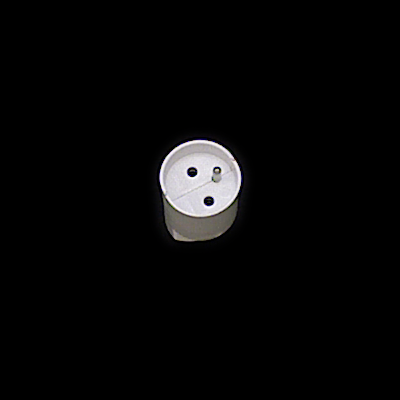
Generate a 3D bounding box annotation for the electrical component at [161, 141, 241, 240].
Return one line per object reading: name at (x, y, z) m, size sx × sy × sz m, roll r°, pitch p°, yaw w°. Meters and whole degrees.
electrical component at (0.000, 0.000, 0.616) m, size 0.043 × 0.043 × 0.080 m, roll 0°, pitch -17°, yaw -1°
